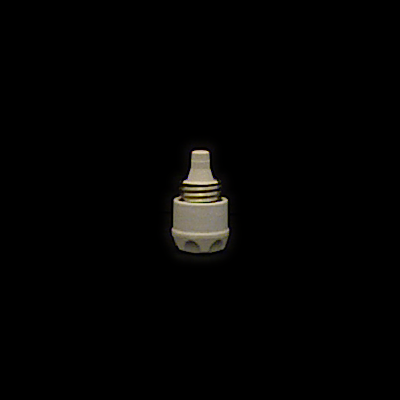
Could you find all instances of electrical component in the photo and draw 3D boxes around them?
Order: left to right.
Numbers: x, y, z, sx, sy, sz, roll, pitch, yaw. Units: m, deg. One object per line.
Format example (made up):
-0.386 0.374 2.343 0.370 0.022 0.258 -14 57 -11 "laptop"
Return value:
0.000 0.000 0.655 0.035 0.062 0.035 0 11 0 "electrical component"
